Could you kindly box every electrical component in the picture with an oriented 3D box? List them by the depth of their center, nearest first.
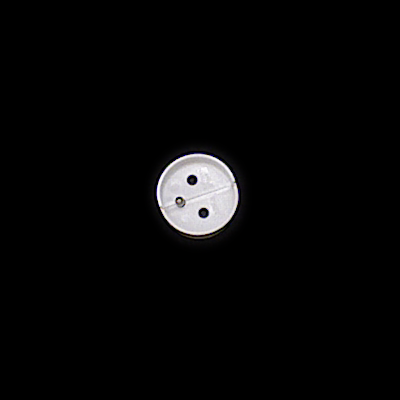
[{"bbox_3d":[0.000,0.000,0.615,0.043,0.043,0.080,0,-6,1],"label":"electrical component"}]
